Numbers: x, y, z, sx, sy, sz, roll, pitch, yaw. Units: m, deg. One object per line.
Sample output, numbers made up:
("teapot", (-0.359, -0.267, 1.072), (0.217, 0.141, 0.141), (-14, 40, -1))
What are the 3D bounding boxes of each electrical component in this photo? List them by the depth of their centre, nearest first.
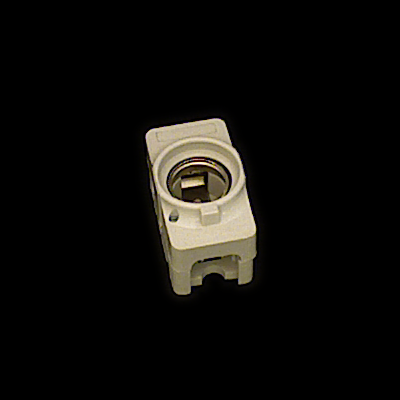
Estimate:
("electrical component", (0.000, 0.000, 0.637), (0.050, 0.089, 0.056), (-10, -36, -8))
